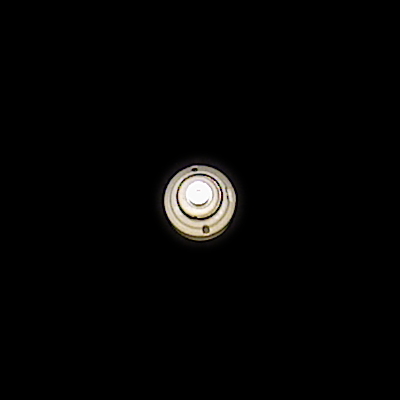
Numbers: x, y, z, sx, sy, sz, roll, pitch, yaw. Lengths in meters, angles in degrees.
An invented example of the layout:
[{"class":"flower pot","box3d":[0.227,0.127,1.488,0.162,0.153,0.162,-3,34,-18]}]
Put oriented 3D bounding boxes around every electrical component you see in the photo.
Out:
[{"class":"electrical component","box3d":[0.000,0.000,0.618,0.040,0.040,0.078,0,-7,1]}]
